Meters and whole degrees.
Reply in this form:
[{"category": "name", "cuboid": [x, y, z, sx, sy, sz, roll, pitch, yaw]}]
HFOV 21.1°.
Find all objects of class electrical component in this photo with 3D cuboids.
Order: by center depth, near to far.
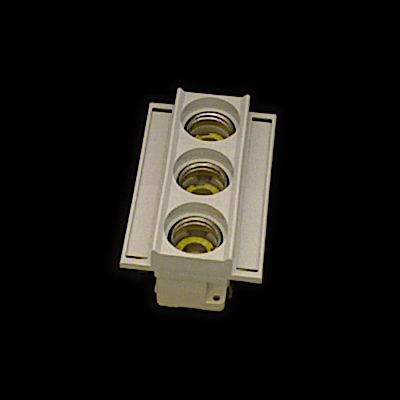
[{"category": "electrical component", "cuboid": [0.000, 0.000, 0.640, 0.079, 0.120, 0.063, 6, -37, 3]}]
